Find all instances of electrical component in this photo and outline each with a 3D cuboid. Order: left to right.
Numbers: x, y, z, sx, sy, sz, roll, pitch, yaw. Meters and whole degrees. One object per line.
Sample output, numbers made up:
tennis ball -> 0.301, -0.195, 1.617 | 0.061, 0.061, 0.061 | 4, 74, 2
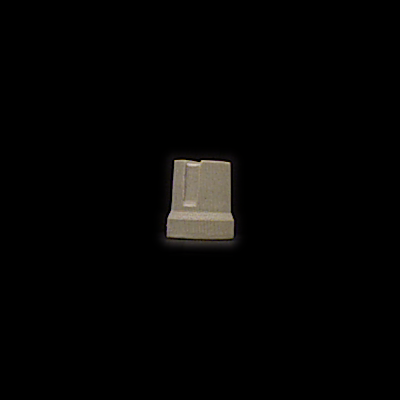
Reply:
electrical component -> 0.000, 0.000, 0.651 | 0.040, 0.046, 0.040 | 2, 2, 0
